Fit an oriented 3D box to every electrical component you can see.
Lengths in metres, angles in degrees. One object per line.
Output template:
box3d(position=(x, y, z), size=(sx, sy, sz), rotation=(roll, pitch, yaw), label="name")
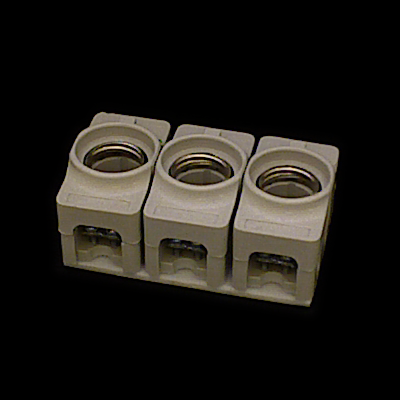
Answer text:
box3d(position=(0.000, 0.000, 0.638), size=(0.150, 0.063, 0.088), rotation=(9, 42, 8), label="electrical component")
